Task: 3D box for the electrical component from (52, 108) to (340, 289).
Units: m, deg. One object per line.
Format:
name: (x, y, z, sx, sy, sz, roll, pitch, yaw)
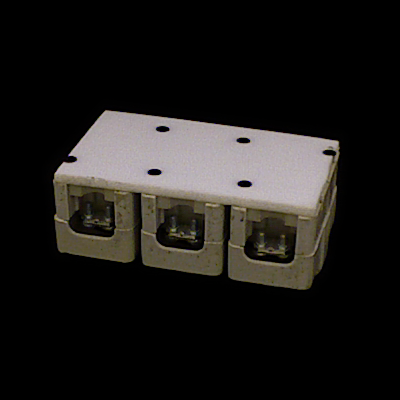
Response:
electrical component: (0.000, 0.000, 0.639, 0.150, 0.063, 0.088, 8, 32, 13)
